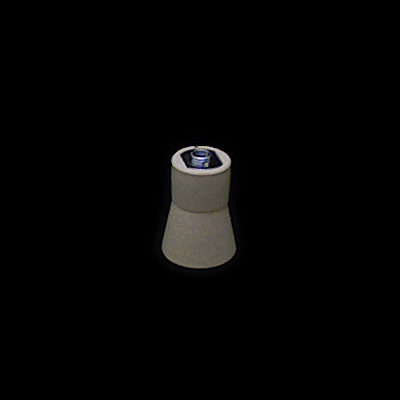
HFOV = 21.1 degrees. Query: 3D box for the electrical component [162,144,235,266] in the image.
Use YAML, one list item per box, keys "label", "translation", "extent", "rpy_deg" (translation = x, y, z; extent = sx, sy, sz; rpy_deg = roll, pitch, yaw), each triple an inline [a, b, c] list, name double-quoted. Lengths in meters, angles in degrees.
- label: "electrical component"
  translation: [0.000, 0.000, 0.633]
  extent: [0.044, 0.066, 0.044]
  rpy_deg: [2, 31, -1]
